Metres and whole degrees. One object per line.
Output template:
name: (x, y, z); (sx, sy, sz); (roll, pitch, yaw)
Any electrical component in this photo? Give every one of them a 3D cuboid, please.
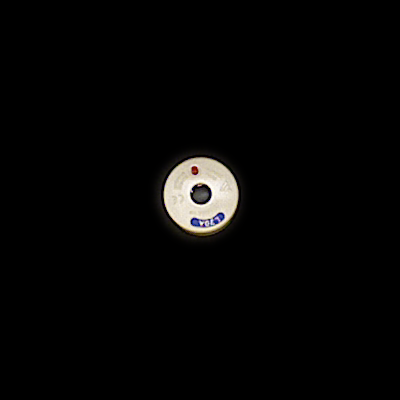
electrical component: (0.000, 0.000, 0.618); (0.040, 0.040, 0.078); (0, -6, 1)
